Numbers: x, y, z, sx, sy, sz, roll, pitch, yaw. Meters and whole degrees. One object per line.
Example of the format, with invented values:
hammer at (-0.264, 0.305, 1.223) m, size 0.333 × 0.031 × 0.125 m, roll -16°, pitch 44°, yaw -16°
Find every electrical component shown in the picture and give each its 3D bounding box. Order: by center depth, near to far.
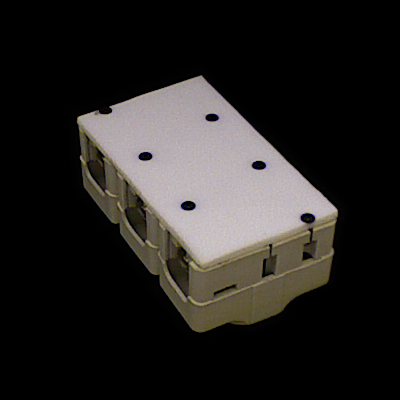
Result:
electrical component at (0.000, 0.000, 0.635) m, size 0.089 × 0.063 × 0.148 m, roll -21°, pitch 46°, yaw -22°
